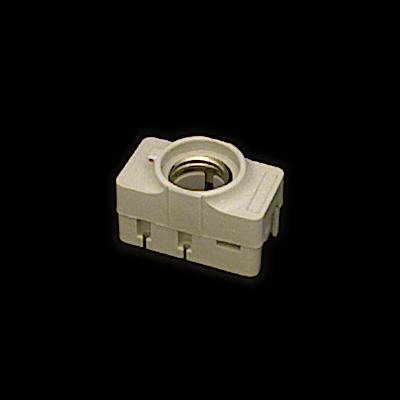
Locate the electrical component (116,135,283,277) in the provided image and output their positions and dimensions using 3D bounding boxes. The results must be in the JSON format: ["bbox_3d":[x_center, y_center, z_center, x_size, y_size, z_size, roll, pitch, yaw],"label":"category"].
[{"bbox_3d":[0.000,0.000,0.640,0.089,0.056,0.050,14,44,14],"label":"electrical component"}]
